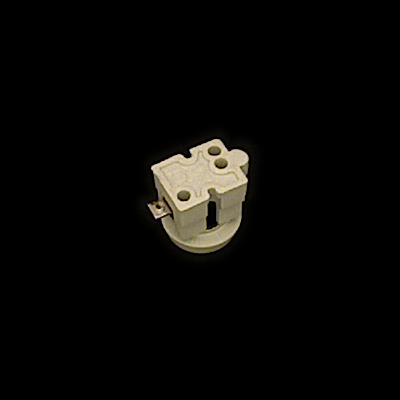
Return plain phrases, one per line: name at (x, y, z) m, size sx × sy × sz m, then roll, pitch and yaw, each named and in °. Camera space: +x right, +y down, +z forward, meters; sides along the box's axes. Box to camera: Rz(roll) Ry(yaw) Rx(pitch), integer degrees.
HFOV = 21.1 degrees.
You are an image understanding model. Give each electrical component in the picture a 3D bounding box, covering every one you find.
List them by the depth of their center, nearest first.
electrical component at (0.000, 0.000, 0.639) m, size 0.067 × 0.048 × 0.056 m, roll -23°, pitch -32°, yaw -16°
